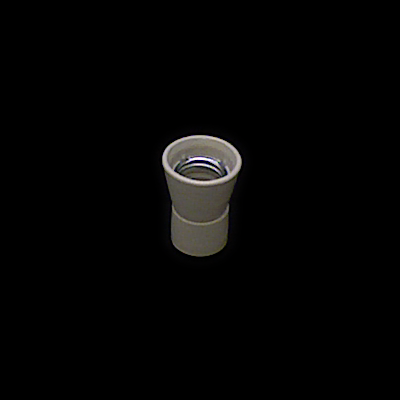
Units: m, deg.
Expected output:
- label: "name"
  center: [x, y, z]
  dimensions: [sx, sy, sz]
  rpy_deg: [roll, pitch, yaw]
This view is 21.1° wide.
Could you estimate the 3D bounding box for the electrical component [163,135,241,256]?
- label: "electrical component"
  center: [0.000, 0.000, 0.631]
  dimensions: [0.044, 0.066, 0.044]
  rpy_deg: [1, 41, -1]
